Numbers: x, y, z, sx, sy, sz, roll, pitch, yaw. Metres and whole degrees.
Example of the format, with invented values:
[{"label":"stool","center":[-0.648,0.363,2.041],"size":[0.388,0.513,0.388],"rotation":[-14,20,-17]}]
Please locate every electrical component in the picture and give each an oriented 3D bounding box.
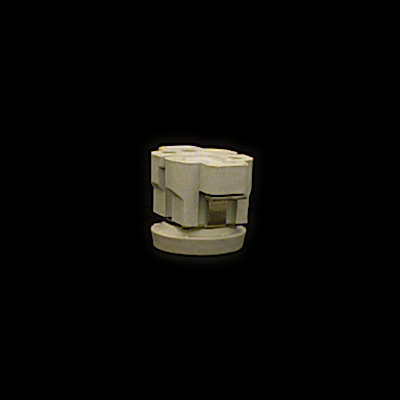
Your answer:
[{"label":"electrical component","center":[0.000,0.000,0.651],"size":[0.058,0.057,0.077],"rotation":[-4,14,-27]}]
